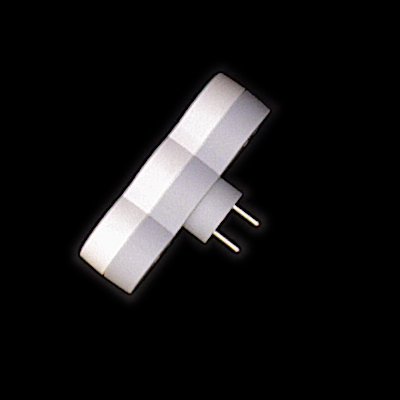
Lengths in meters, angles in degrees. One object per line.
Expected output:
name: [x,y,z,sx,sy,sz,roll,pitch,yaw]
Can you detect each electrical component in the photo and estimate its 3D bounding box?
electrical component: [0.000,0.000,0.632,0.074,0.138,0.052,37,-6,2]
